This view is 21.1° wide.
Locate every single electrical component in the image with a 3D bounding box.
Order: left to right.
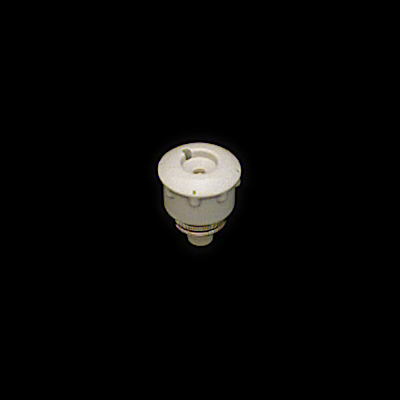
[{"bbox_3d":[0.000,0.000,0.636,0.048,0.062,0.047,1,42,0],"label":"electrical component"}]
